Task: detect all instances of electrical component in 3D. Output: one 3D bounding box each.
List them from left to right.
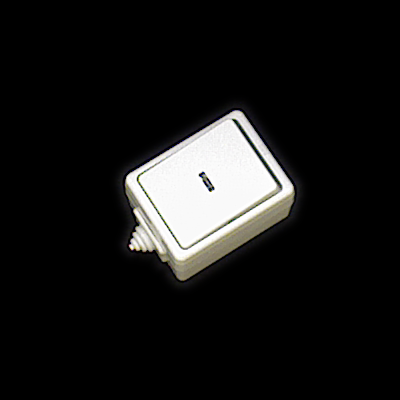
[{"bbox_3d":[0.000,0.000,0.625,0.096,0.062,0.060,-32,-14,-9],"label":"electrical component"}]
